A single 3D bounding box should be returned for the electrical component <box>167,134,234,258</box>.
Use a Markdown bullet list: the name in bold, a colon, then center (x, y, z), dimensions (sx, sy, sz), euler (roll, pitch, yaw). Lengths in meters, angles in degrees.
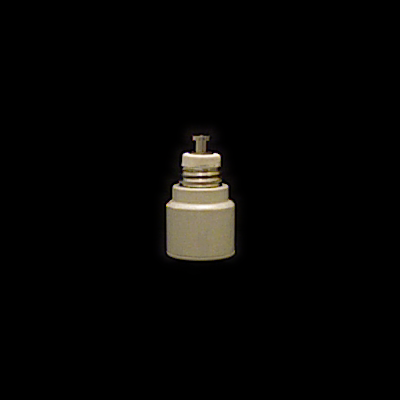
- **electrical component**: center (0.000, 0.000, 0.643), dimensions (0.040, 0.079, 0.040), euler (0, 12, 0)
